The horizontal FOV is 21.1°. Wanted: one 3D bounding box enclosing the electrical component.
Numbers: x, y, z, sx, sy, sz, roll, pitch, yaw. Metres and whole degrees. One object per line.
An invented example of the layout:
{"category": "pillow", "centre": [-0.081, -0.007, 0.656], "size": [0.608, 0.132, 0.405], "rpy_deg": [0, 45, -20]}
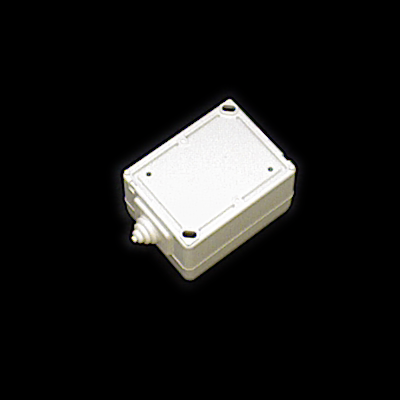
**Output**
{"category": "electrical component", "centre": [-0.001, 0.000, 0.623], "size": [0.097, 0.062, 0.060], "rpy_deg": [-36, -21, -17]}
